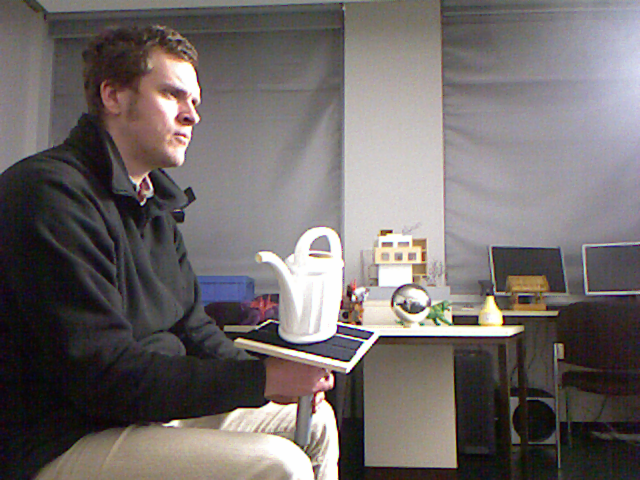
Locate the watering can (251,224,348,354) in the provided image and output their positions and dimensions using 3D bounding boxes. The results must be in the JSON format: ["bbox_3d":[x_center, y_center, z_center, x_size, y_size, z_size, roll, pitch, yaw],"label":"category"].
[{"bbox_3d":[-0.032,0.089,0.876,0.104,0.223,0.350,11,10,24],"label":"watering can"}]
